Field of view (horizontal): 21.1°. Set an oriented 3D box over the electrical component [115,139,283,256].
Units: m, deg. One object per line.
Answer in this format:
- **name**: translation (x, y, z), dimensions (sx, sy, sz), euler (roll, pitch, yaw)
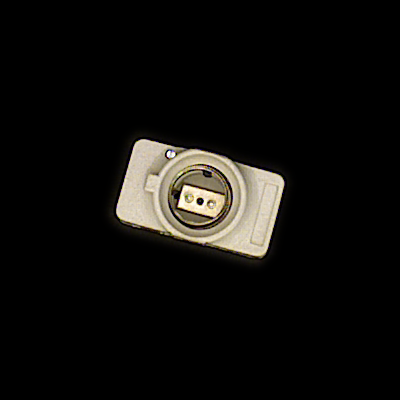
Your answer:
- **electrical component**: translation (0.000, 0.000, 0.637), dimensions (0.089, 0.050, 0.055), euler (15, -5, 2)
